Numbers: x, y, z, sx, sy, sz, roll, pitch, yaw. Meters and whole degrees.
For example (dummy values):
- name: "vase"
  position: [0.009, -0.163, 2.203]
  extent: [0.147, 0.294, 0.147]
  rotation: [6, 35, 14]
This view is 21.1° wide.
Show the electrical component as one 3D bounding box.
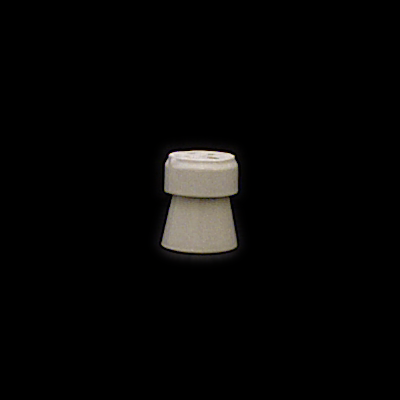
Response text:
- name: "electrical component"
  position: [0.000, 0.000, 0.643]
  extent: [0.045, 0.055, 0.044]
  rotation: [1, 12, 0]
